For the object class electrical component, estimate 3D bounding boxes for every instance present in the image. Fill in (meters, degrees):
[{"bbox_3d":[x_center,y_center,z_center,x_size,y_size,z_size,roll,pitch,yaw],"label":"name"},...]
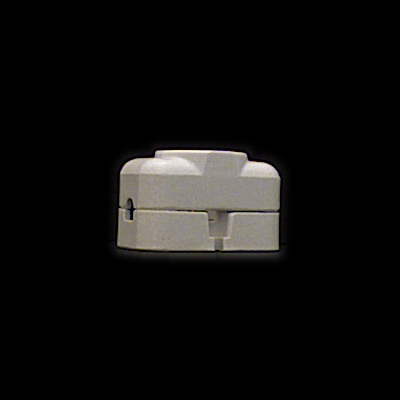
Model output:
[{"bbox_3d":[0.000,0.000,0.658,0.096,0.059,0.053,1,2,-29],"label":"electrical component"}]
